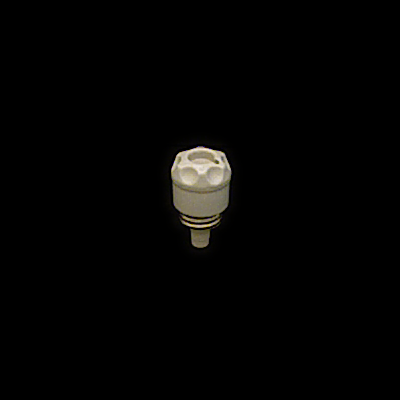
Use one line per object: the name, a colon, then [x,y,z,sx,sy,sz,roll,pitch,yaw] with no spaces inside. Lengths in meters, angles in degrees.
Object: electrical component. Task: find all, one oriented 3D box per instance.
electrical component: [0.000,0.000,0.639,0.035,0.062,0.035,1,33,0]
